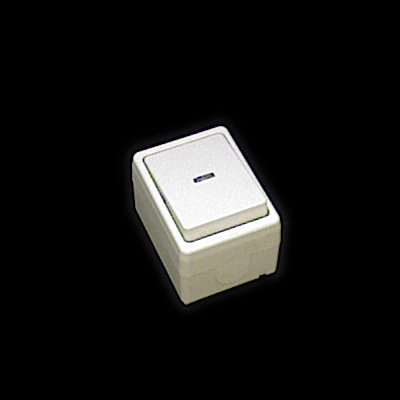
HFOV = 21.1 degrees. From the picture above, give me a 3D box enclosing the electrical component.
[{"bbox_3d":[0.000,0.000,0.629,0.062,0.096,0.061,-19,-35,-14],"label":"electrical component"}]
